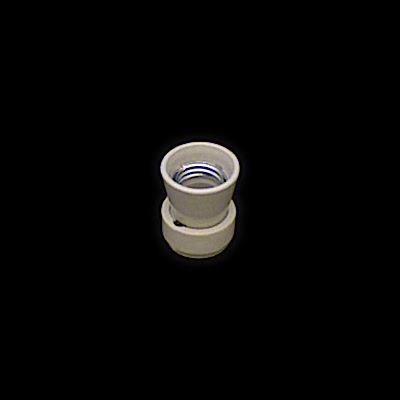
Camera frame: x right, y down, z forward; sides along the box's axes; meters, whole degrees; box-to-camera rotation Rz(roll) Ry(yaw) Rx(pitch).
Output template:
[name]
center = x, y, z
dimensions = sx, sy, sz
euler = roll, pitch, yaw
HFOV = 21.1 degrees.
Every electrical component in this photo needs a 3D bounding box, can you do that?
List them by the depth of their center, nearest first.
[electrical component]
center = 0.000, 0.000, 0.632
dimensions = 0.045, 0.056, 0.044
euler = 1, 43, -1
